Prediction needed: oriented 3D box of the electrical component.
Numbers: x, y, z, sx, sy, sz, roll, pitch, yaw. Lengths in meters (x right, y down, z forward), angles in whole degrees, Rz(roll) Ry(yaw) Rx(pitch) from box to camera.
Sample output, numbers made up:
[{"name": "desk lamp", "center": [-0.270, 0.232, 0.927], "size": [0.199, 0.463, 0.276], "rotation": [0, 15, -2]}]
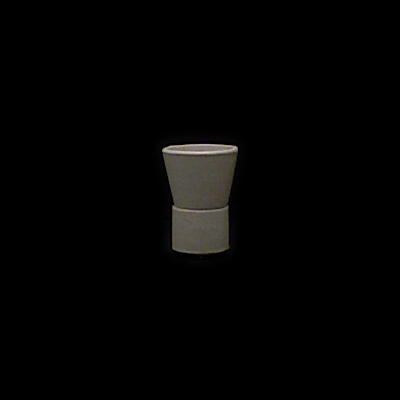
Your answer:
[{"name": "electrical component", "center": [0.000, 0.000, 0.643], "size": [0.044, 0.066, 0.044], "rotation": [0, 11, 0]}]
